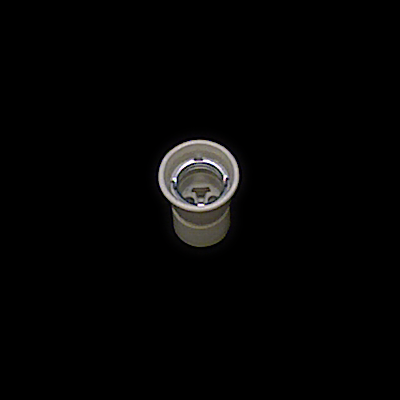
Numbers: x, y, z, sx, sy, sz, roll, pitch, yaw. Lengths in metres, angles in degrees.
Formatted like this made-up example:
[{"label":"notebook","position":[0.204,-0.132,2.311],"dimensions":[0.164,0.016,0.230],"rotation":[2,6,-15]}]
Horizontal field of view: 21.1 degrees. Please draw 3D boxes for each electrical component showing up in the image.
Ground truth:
[{"label":"electrical component","position":[0.000,0.000,0.624],"dimensions":[0.044,0.044,0.065],"rotation":[0,-27,1]}]
